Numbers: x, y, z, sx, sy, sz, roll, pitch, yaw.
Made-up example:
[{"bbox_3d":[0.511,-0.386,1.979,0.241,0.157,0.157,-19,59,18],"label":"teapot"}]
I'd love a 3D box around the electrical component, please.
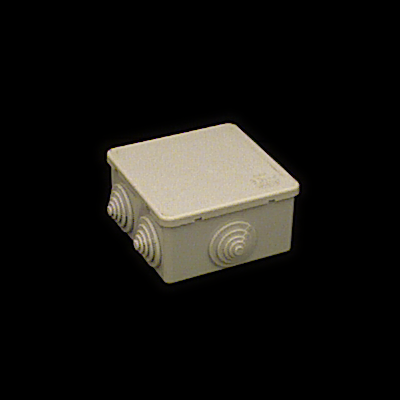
[{"bbox_3d":[0.000,0.000,0.645,0.100,0.049,0.098,-14,35,-22],"label":"electrical component"}]
